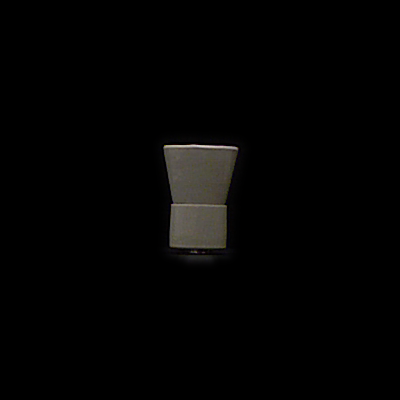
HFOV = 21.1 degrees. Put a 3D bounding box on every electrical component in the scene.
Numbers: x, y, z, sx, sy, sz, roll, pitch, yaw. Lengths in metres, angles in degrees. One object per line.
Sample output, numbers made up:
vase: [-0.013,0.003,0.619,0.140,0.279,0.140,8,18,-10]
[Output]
electrical component: [0.000,0.000,0.648,0.044,0.065,0.044,2,2,0]
